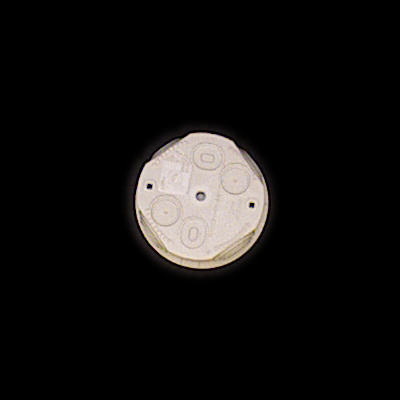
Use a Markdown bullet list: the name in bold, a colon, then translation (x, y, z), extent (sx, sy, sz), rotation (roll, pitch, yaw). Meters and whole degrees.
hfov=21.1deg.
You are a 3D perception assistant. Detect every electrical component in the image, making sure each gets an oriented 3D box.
- **electrical component**: translation (0.000, 0.000, 0.633), extent (0.080, 0.080, 0.050), rotation (0, -7, 1)
